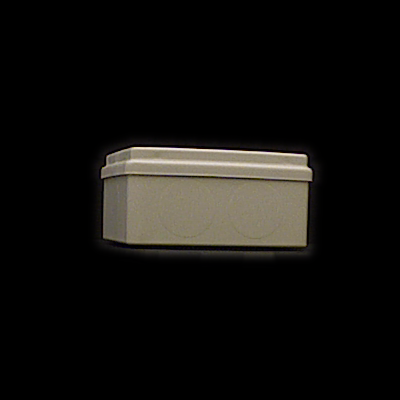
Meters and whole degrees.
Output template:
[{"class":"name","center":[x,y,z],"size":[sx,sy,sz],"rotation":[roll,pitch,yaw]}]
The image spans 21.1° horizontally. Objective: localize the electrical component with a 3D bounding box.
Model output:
[{"class":"electrical component","center":[0.000,0.000,0.651],"size":[0.109,0.056,0.108],"rotation":[2,0,-14]}]
